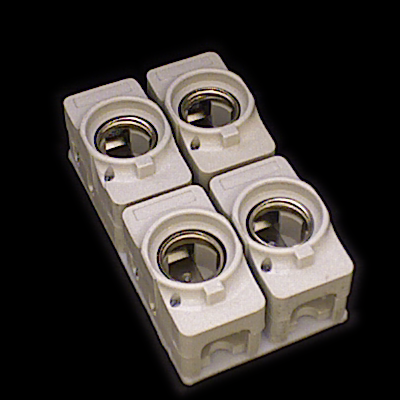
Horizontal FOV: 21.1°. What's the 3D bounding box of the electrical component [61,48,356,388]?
[{"bbox_3d":[0.000,0.000,0.627,0.105,0.185,0.060,-20,-35,-15],"label":"electrical component"}]
